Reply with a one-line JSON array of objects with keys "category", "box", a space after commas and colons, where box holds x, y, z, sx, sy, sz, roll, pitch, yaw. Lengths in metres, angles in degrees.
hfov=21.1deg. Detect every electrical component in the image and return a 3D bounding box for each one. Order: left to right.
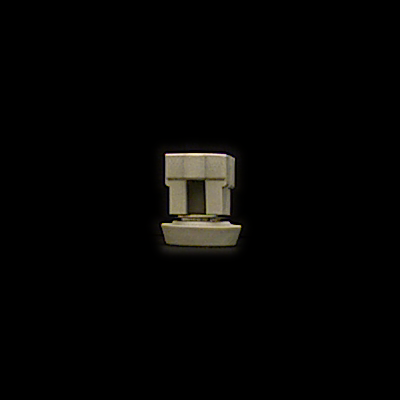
[{"category": "electrical component", "box": [0.000, 0.000, 0.656, 0.048, 0.055, 0.066, 0, 1, 9]}]
